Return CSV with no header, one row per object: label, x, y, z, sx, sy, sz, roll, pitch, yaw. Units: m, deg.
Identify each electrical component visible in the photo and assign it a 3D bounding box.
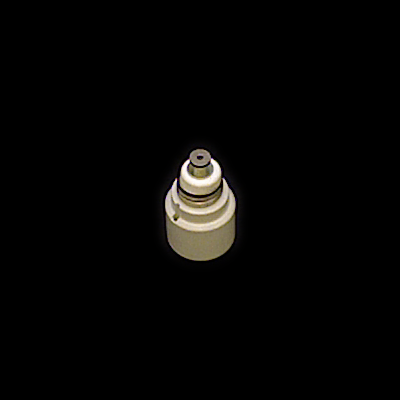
electrical component,0.000,0.000,0.621,0.040,0.040,0.079,0,-37,0
